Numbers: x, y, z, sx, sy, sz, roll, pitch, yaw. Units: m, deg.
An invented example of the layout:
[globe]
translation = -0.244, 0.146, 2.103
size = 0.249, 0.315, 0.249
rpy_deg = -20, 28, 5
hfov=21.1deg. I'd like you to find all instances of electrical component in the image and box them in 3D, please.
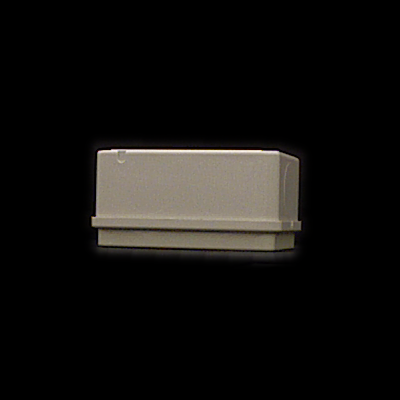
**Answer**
[electrical component]
translation = 0.000, 0.000, 0.650
size = 0.113, 0.057, 0.078
rpy_deg = 2, 0, 15
